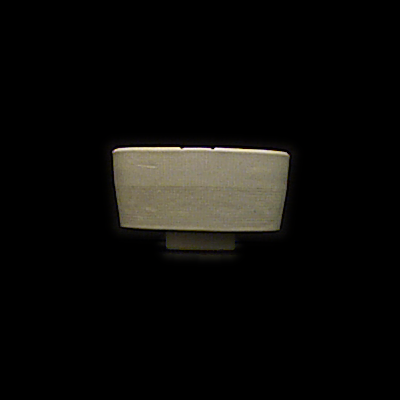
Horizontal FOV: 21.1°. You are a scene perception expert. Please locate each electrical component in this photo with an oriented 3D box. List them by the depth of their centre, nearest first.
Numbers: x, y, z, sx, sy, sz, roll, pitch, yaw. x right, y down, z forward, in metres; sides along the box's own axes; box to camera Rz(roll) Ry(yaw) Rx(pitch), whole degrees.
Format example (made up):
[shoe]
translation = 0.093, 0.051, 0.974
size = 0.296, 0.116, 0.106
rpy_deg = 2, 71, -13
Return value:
[electrical component]
translation = 0.000, 0.000, 0.660
size = 0.108, 0.060, 0.108
rpy_deg = 1, 1, 1
